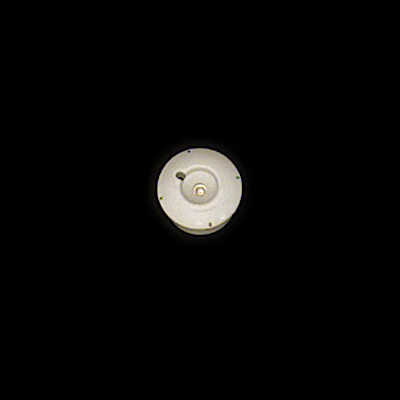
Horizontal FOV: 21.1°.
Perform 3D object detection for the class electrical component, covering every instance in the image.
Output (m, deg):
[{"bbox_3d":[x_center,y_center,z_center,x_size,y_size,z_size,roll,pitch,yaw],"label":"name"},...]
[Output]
[{"bbox_3d":[0.000,0.000,0.633,0.048,0.048,0.061,0,-16,1],"label":"electrical component"}]
